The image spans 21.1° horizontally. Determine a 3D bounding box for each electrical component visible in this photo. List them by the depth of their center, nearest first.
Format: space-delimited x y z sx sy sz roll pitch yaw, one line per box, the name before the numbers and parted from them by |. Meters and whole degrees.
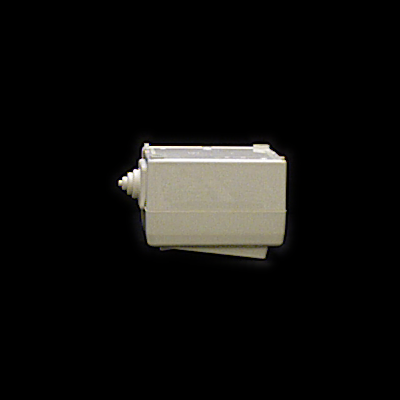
electrical component | 0.000 0.000 0.641 0.096 0.061 0.061 0 11 -7
